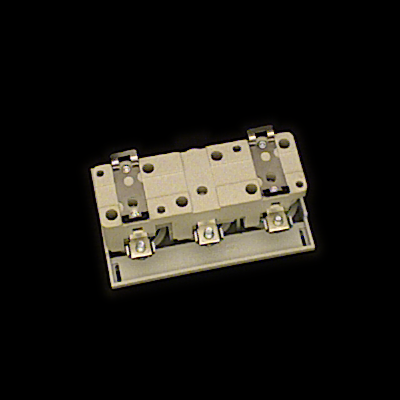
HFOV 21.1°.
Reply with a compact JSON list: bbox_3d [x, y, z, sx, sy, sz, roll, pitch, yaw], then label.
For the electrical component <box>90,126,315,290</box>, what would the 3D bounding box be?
[{"bbox_3d":[0.000,0.000,0.635,0.122,0.078,0.063,-11,-27,-6],"label":"electrical component"}]
